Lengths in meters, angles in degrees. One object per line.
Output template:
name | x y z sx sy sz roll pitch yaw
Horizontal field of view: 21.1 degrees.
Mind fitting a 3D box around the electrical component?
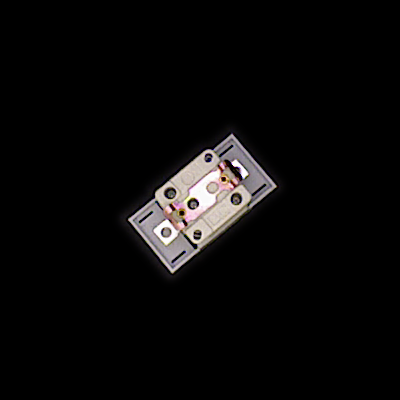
electrical component | 0.000 0.000 0.626 0.081 0.042 0.063 -40 -5 -4
